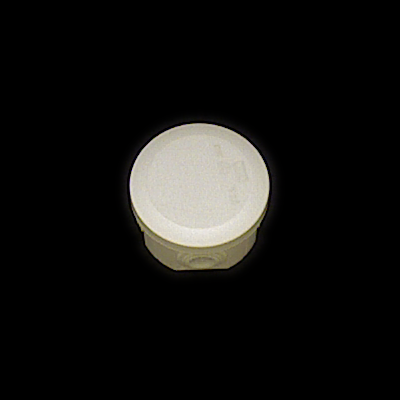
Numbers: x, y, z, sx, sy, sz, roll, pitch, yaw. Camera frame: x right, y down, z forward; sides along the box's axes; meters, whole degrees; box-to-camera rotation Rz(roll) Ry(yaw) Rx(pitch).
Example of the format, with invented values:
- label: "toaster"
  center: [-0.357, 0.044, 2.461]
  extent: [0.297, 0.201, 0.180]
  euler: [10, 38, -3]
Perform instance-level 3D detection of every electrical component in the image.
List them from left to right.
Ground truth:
- label: "electrical component"
  center: [0.000, 0.000, 0.629]
  extent: [0.080, 0.080, 0.050]
  euler: [0, -27, 0]
